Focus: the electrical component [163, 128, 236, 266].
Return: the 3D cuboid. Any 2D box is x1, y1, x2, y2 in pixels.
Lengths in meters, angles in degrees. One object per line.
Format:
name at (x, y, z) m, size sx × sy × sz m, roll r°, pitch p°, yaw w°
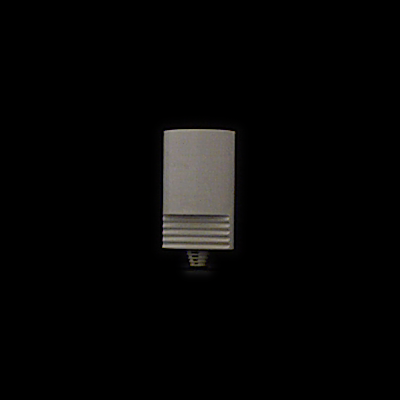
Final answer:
electrical component at (0.000, 0.000, 0.648) m, size 0.043 × 0.081 × 0.043 m, roll 1°, pitch 0°, yaw 0°
